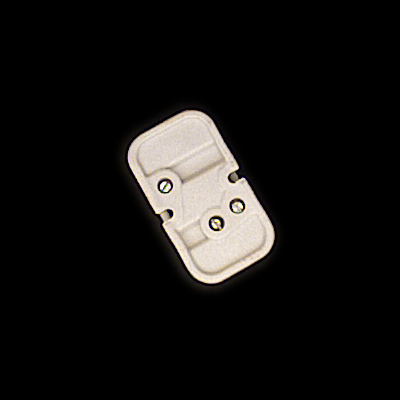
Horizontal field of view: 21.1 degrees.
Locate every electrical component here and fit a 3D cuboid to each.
[{"bbox_3d":[0.000,0.000,0.637,0.054,0.095,0.059,-30,-6,-2],"label":"electrical component"}]
